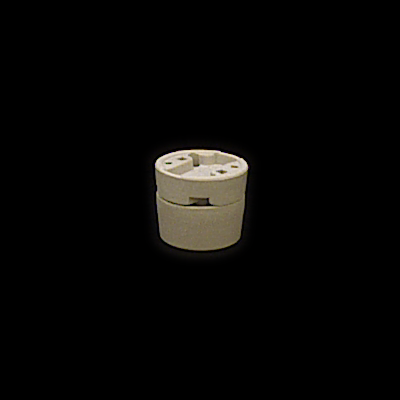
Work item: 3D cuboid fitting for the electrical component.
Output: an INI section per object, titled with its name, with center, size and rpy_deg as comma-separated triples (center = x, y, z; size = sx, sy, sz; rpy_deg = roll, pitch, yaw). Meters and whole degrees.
[electrical component]
center = 0.000, 0.000, 0.643
size = 0.055, 0.047, 0.055
rpy_deg = 1, 22, 0
